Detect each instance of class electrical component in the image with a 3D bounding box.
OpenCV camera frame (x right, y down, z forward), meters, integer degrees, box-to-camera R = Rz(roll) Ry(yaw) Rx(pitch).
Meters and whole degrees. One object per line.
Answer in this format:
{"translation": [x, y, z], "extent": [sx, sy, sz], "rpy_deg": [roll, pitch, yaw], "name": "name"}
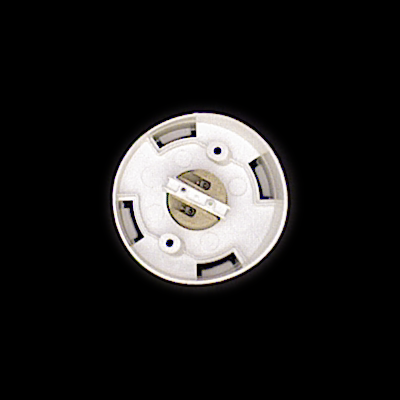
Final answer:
{"translation": [0.000, 0.000, 0.625], "extent": [0.099, 0.099, 0.064], "rpy_deg": [0, -7, -1], "name": "electrical component"}
